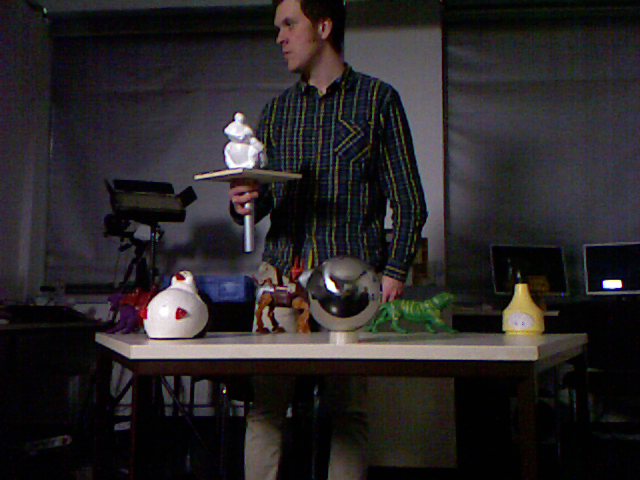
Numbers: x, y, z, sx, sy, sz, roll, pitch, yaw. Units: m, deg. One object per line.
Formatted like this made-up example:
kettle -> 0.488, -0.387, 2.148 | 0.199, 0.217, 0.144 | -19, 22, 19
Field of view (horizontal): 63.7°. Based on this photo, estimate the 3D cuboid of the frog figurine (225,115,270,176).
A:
frog figurine -> -0.203, -0.253, 1.389 | 0.123, 0.159, 0.137 | -6, 3, -42
